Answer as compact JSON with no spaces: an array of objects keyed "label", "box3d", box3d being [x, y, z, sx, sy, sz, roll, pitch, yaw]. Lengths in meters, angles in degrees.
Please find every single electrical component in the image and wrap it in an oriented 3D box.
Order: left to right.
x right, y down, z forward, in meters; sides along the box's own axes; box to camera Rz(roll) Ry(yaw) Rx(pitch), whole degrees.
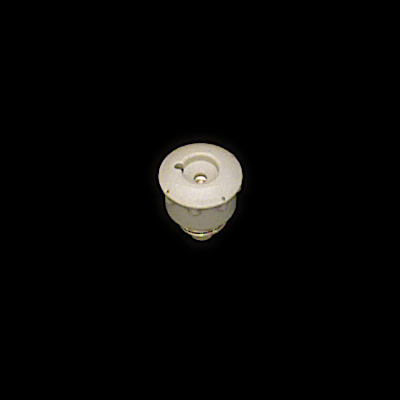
[{"label":"electrical component","box3d":[0.000,0.000,0.633,0.048,0.048,0.062,0,-37,0]}]
